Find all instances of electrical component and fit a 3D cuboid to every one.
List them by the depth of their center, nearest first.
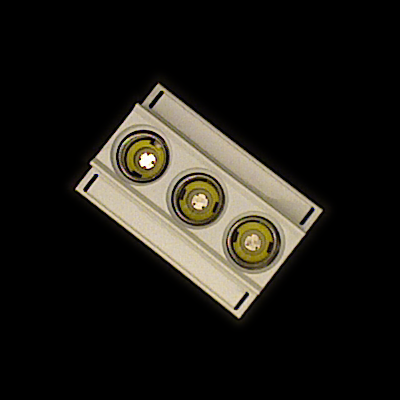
[{"bbox_3d":[0.000,0.000,0.637,0.121,0.079,0.063,38,-3,4],"label":"electrical component"}]
